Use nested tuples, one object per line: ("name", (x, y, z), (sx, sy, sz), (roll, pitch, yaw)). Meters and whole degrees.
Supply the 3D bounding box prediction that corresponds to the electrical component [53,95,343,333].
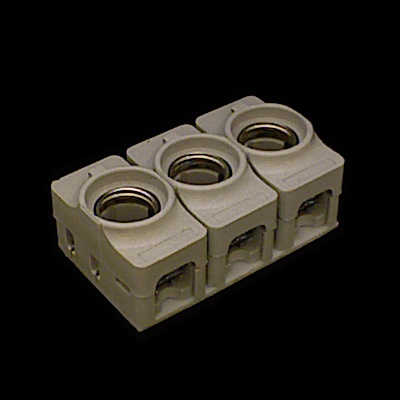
("electrical component", (0.000, 0.000, 0.637), (0.149, 0.063, 0.088), (-26, 48, -28))
